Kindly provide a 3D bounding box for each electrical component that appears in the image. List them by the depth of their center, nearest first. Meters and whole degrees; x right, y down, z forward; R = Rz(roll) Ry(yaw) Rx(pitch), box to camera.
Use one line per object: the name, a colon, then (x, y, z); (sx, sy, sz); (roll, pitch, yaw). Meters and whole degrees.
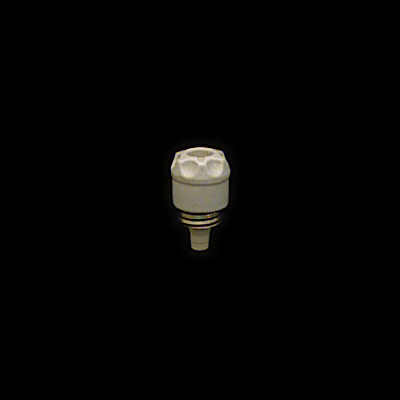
electrical component: (0.000, 0.000, 0.643); (0.035, 0.062, 0.035); (1, 22, 0)
